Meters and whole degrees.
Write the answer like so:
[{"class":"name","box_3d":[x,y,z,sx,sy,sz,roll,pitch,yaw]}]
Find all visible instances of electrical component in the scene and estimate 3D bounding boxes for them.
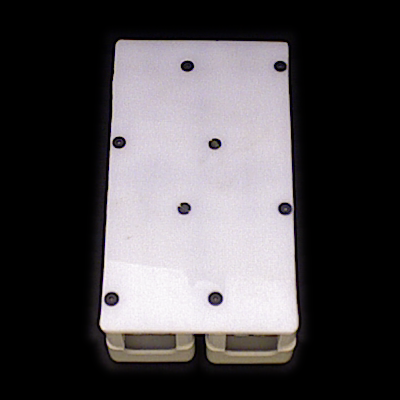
[{"class":"electrical component","box_3d":[0.000,0.000,0.625,0.105,0.186,0.060,0,-27,0]}]
